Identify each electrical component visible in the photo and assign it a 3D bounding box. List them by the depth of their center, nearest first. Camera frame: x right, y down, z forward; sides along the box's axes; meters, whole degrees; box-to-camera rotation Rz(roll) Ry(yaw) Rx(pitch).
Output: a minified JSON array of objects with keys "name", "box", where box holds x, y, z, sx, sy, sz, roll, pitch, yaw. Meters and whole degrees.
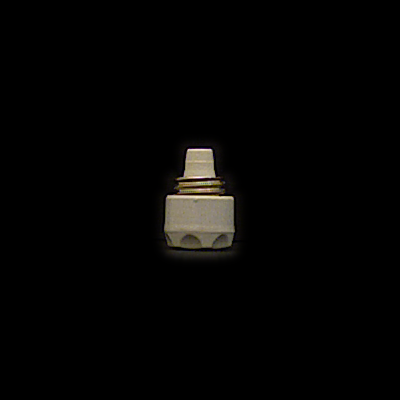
[{"name":"electrical component","box":[0.000,0.000,0.656,0.043,0.062,0.043,0,3,1]}]
